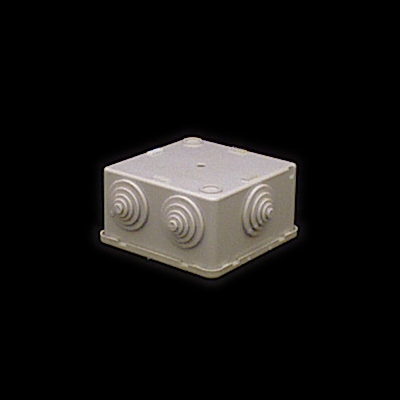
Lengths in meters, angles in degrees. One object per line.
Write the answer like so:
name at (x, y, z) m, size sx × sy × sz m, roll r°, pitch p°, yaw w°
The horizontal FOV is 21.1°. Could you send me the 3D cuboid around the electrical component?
electrical component at (0.000, 0.000, 0.640) m, size 0.099 × 0.049 × 0.099 m, roll 16°, pitch 26°, yaw 35°
